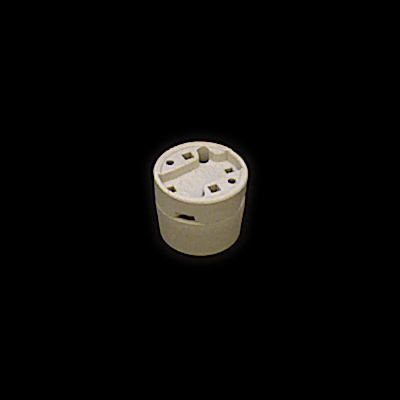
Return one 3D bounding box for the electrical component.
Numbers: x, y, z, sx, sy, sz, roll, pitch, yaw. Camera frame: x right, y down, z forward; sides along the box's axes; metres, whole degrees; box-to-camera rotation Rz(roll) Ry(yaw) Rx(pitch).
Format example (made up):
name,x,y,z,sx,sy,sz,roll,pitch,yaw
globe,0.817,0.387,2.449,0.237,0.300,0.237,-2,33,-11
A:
name,x,y,z,sx,sy,sz,roll,pitch,yaw
electrical component,0.000,0.000,0.637,0.055,0.047,0.055,1,43,0
